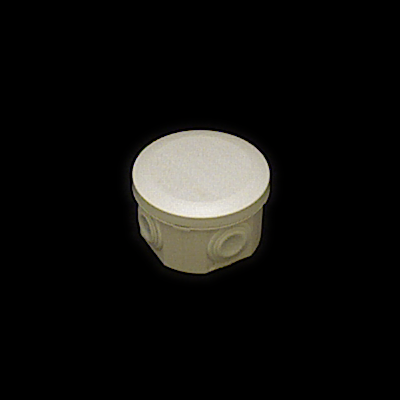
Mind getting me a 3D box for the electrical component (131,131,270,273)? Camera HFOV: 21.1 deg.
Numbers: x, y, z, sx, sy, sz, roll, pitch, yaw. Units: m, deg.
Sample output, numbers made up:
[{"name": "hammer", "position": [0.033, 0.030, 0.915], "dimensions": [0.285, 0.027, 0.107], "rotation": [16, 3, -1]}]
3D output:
[{"name": "electrical component", "position": [0.000, 0.000, 0.635], "dimensions": [0.080, 0.051, 0.079], "rotation": [1, 41, 0]}]
